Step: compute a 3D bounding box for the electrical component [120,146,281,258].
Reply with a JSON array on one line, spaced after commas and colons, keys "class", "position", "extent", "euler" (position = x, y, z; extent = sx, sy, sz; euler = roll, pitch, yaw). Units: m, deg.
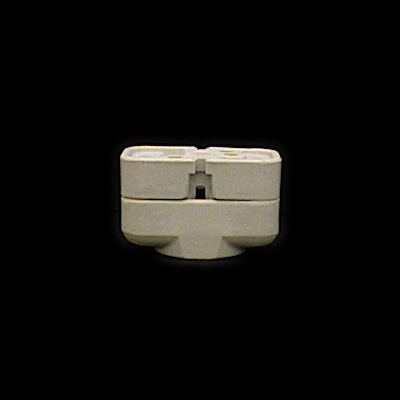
[{"class": "electrical component", "position": [0.000, 0.000, 0.653], "extent": [0.095, 0.060, 0.053], "euler": [1, 11, 0]}]
